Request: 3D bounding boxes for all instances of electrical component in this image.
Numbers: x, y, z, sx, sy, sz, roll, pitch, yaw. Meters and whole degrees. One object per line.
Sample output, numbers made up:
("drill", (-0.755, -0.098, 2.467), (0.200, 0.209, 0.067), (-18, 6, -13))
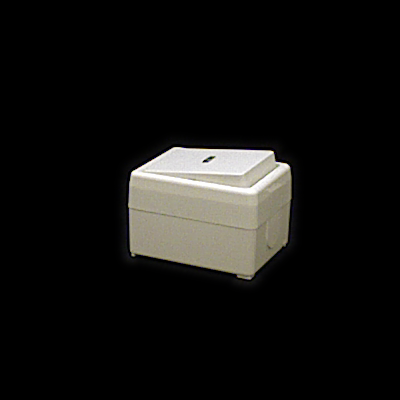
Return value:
("electrical component", (0.000, 0.000, 0.640), (0.096, 0.061, 0.061), (10, 23, 23))
